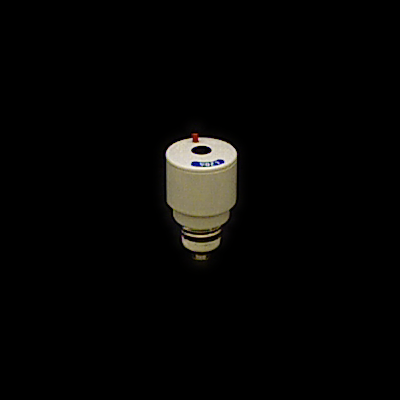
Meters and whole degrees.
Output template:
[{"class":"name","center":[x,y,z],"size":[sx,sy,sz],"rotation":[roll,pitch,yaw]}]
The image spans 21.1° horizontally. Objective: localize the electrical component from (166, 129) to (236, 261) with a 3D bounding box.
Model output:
[{"class":"electrical component","center":[0.000,0.000,0.632],"size":[0.040,0.079,0.039],"rotation":[0,31,0]}]
